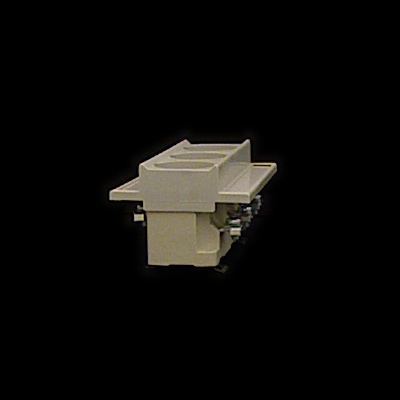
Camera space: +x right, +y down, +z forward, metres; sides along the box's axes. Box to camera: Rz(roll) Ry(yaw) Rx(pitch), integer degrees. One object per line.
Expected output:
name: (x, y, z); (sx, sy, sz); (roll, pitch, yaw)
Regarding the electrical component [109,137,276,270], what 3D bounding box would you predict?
electrical component: (0.000, 0.000, 0.656); (0.078, 0.063, 0.120); (2, 11, 11)
